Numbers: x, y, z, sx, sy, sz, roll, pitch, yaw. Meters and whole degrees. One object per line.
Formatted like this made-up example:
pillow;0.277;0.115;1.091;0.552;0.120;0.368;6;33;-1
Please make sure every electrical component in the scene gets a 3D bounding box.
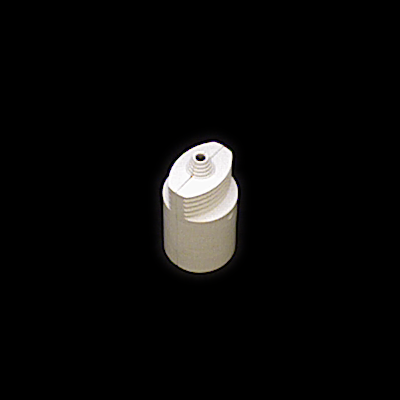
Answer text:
electrical component;0.000;0.000;0.619;0.043;0.043;0.081;0;-38;0
